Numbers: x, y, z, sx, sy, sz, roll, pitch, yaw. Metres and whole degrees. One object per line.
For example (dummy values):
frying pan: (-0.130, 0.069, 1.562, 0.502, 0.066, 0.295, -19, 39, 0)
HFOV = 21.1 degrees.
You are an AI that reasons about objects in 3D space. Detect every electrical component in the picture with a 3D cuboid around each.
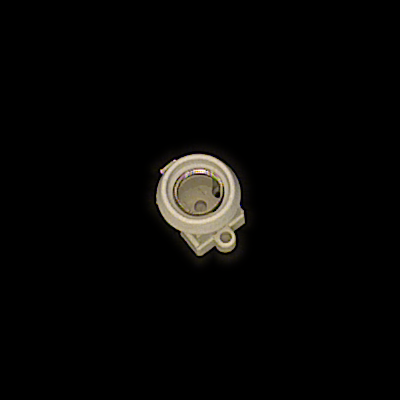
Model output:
electrical component: (0.000, 0.000, 0.637, 0.049, 0.066, 0.055, -38, -13, -12)
